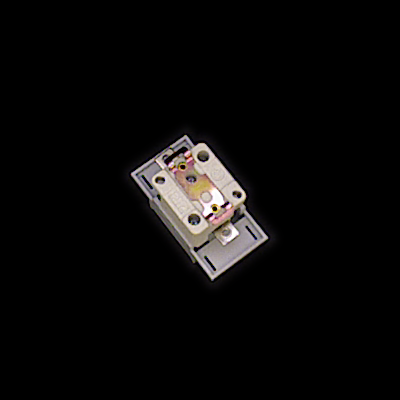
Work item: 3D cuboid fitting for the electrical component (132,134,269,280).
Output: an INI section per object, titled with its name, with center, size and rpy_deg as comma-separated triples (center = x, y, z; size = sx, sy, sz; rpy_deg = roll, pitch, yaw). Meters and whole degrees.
[electrical component]
center = 0.000, 0.000, 0.625
size = 0.042, 0.081, 0.063
rpy_deg = -37, -14, -10
